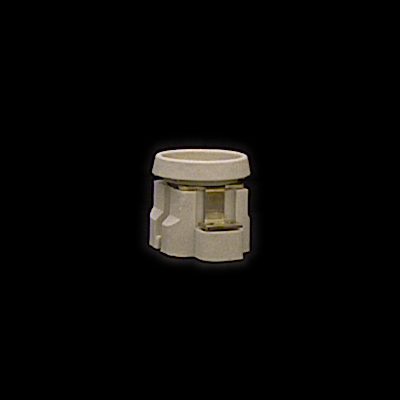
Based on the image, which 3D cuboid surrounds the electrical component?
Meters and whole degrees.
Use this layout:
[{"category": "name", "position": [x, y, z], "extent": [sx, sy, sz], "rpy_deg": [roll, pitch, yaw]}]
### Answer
[{"category": "electrical component", "position": [0.000, 0.000, 0.643], "extent": [0.058, 0.057, 0.078], "rpy_deg": [-3, 12, -23]}]
